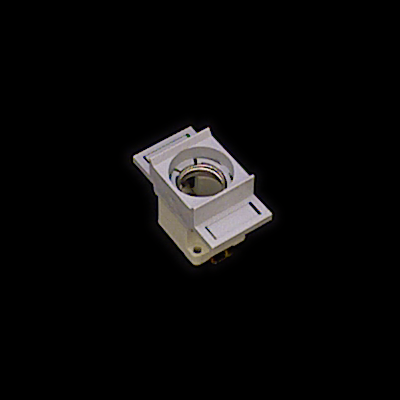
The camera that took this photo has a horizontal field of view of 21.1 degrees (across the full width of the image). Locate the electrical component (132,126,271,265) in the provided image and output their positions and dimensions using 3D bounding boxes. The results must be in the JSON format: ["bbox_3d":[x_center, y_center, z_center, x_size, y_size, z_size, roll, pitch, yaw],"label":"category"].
[{"bbox_3d":[0.000,0.000,0.627,0.042,0.080,0.064,-29,-32,-20],"label":"electrical component"}]
